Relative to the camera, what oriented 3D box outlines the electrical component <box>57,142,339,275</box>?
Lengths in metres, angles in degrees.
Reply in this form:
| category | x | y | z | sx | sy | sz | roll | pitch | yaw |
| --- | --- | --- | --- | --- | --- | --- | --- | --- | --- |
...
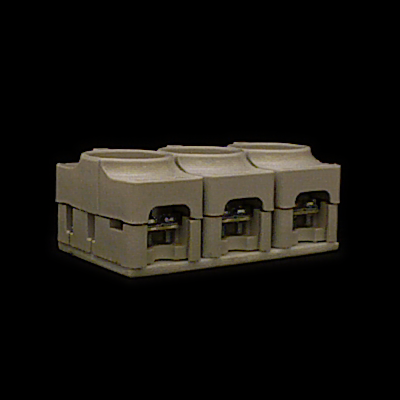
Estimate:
| category | x | y | z | sx | sy | sz | roll | pitch | yaw |
| --- | --- | --- | --- | --- | --- | --- | --- | --- | --- |
| electrical component | 0.000 | 0.000 | 0.651 | 0.150 | 0.062 | 0.088 | -5 | 11 | -34 |
